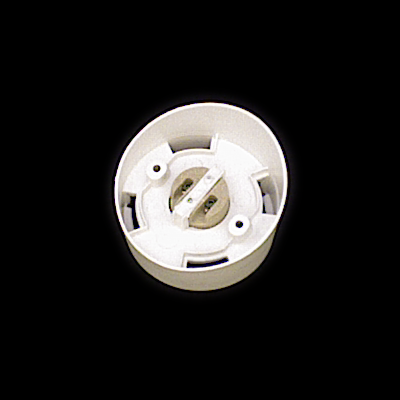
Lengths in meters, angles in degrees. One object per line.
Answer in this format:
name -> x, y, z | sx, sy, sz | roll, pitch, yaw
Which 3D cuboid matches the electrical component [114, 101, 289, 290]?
electrical component -> 0.000, 0.000, 0.625 | 0.099, 0.099, 0.064 | 0, -28, -1
